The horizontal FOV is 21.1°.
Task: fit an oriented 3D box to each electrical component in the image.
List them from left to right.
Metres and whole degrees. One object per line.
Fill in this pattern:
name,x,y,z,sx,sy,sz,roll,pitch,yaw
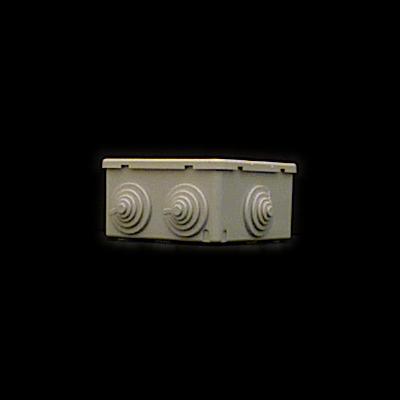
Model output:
electrical component,0.000,0.000,0.655,0.098,0.048,0.101,2,1,35
